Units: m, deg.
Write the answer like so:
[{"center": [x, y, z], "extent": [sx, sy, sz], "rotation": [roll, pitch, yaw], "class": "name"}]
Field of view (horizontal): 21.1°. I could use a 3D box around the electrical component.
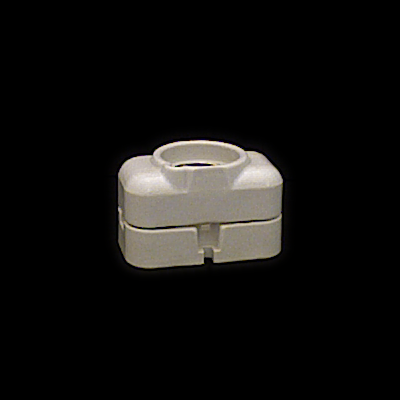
[{"center": [0.000, 0.000, 0.644], "extent": [0.095, 0.060, 0.053], "rotation": [-4, 22, -13], "class": "electrical component"}]
